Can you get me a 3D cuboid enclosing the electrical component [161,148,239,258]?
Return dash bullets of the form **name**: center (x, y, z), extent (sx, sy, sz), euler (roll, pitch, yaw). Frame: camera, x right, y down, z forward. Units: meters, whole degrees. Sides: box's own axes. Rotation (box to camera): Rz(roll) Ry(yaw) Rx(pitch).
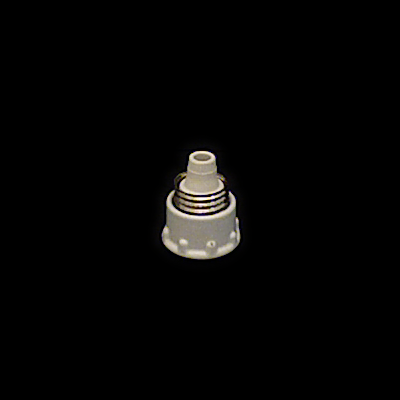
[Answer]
- **electrical component**: center (0.000, 0.000, 0.642), extent (0.048, 0.063, 0.047), euler (1, 31, 0)
